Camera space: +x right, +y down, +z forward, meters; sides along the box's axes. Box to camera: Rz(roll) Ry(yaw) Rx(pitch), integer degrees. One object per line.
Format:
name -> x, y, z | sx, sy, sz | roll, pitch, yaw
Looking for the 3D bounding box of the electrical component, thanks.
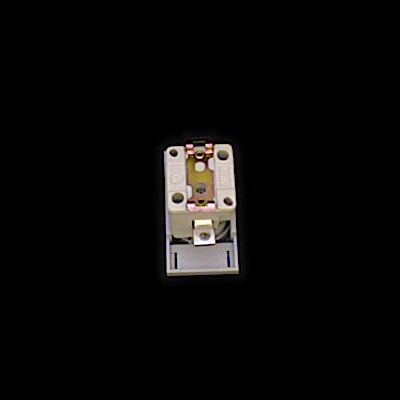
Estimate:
electrical component -> 0.000, 0.000, 0.626 | 0.042, 0.081, 0.063 | -2, -27, -1
